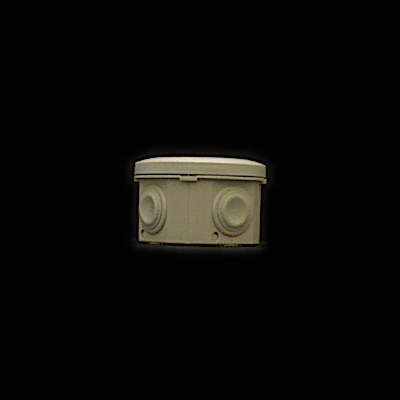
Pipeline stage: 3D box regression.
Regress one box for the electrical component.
[{"bbox_3d":[0.000,0.000,0.652,0.080,0.051,0.080,1,0,0],"label":"electrical component"}]
